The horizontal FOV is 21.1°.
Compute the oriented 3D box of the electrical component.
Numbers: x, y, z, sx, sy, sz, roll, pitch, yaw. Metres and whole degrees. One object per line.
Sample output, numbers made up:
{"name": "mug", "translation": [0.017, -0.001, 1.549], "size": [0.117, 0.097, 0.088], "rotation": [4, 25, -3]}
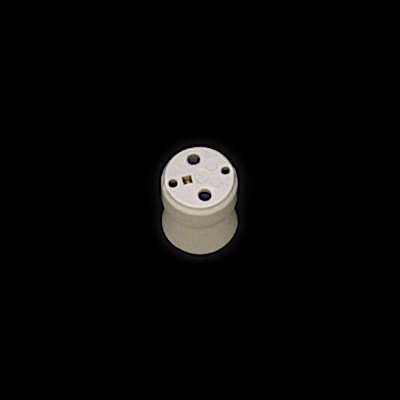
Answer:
{"name": "electrical component", "translation": [0.000, 0.000, 0.629], "size": [0.045, 0.045, 0.055], "rotation": [0, -27, -1]}
